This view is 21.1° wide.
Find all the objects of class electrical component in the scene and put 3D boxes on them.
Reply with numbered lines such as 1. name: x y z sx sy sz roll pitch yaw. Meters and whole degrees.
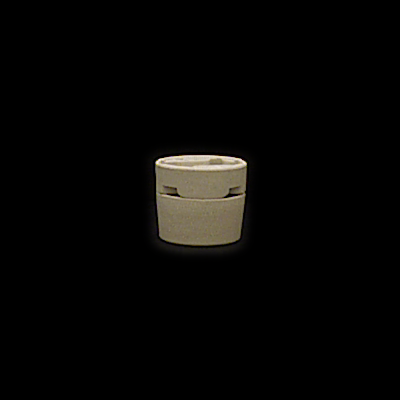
1. electrical component: 0.000 0.000 0.645 0.055 0.047 0.055 1 10 0
